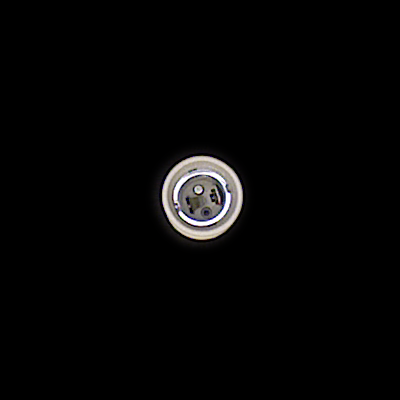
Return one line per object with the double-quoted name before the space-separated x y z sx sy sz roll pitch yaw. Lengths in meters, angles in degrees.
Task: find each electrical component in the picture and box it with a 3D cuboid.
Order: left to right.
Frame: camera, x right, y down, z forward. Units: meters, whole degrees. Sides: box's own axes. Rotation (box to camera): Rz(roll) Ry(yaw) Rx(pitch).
"electrical component" 0.000 0.000 0.629 0.045 0.045 0.055 0 -6 0
